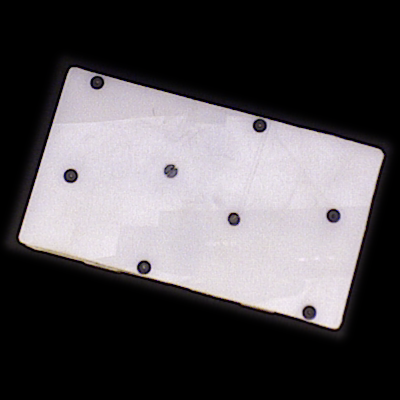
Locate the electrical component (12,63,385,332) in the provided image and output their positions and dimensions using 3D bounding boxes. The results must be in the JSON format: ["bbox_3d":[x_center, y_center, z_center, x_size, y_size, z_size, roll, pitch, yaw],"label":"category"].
[{"bbox_3d":[0.000,0.000,0.626,0.186,0.106,0.060,15,-7,2],"label":"electrical component"}]
